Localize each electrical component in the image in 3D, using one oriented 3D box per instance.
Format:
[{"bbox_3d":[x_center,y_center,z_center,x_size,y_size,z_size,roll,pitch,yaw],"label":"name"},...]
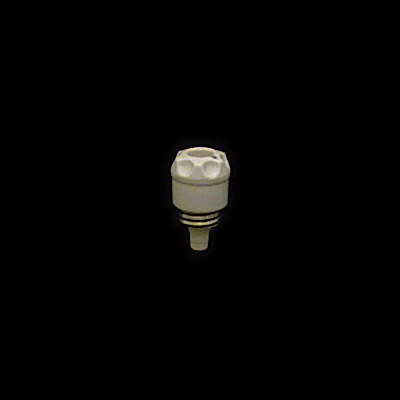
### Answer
[{"bbox_3d":[0.000,0.000,0.644,0.035,0.062,0.035,1,22,0],"label":"electrical component"}]
